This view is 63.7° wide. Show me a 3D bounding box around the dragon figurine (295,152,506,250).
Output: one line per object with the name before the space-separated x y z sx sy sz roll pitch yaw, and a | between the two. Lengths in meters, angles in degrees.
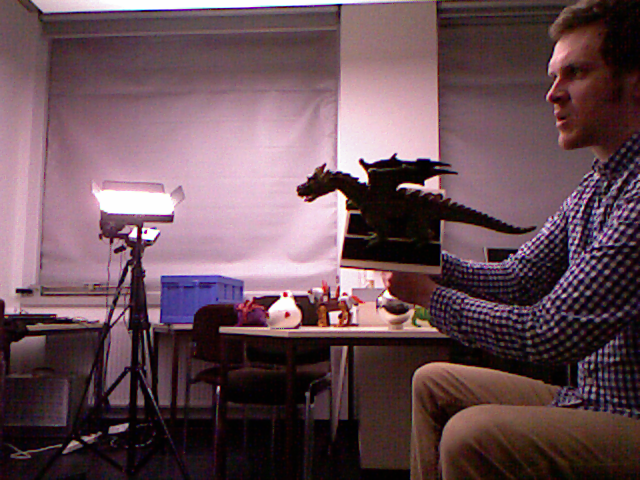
dragon figurine | 0.161 -0.081 0.963 0.412 0.125 0.239 0 -22 5
